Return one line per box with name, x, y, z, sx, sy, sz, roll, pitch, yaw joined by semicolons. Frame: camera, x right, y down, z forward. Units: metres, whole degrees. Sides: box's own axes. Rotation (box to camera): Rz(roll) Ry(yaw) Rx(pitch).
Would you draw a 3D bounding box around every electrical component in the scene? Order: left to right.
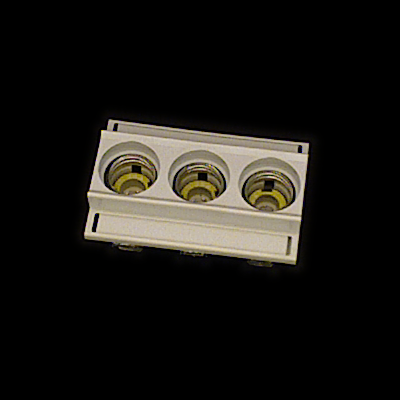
electrical component;0.000;0.000;0.638;0.121;0.078;0.063;7;-28;4
